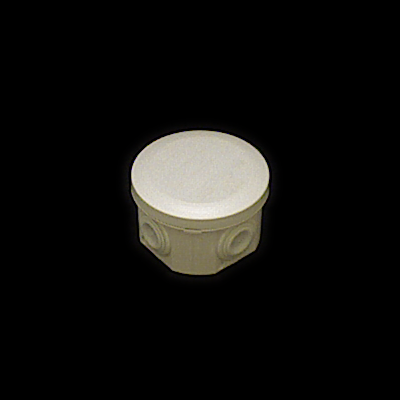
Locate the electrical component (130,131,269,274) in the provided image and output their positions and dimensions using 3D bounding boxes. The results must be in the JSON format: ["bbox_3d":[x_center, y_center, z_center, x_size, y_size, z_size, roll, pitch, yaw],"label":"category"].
[{"bbox_3d":[0.000,0.000,0.631,0.080,0.051,0.080,0,42,0],"label":"electrical component"}]
